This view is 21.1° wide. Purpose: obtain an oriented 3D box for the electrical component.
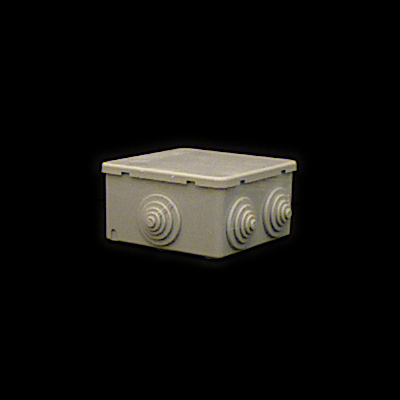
[{"bbox_3d":[0.000,0.000,0.653,0.098,0.049,0.100,9,13,33],"label":"electrical component"}]
